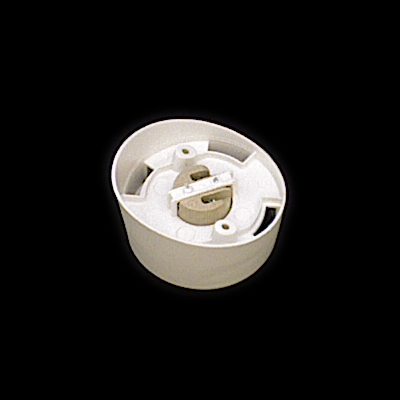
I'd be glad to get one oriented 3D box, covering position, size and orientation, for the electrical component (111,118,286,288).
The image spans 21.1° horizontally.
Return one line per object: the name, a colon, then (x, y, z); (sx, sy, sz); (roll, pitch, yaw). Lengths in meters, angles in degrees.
electrical component: (0.000, 0.000, 0.625); (0.099, 0.098, 0.064); (0, -37, 0)
